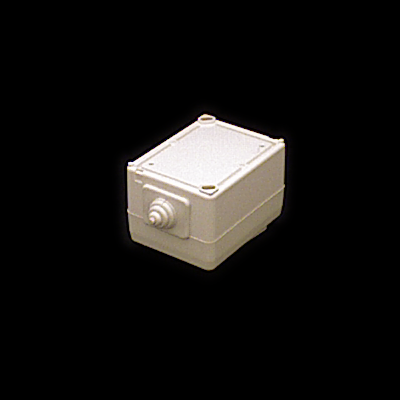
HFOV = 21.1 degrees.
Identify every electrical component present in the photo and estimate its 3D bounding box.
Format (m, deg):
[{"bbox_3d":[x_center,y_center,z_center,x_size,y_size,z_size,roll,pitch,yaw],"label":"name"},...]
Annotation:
[{"bbox_3d":[0.000,0.000,0.635,0.061,0.061,0.096,21,37,29],"label":"electrical component"}]
